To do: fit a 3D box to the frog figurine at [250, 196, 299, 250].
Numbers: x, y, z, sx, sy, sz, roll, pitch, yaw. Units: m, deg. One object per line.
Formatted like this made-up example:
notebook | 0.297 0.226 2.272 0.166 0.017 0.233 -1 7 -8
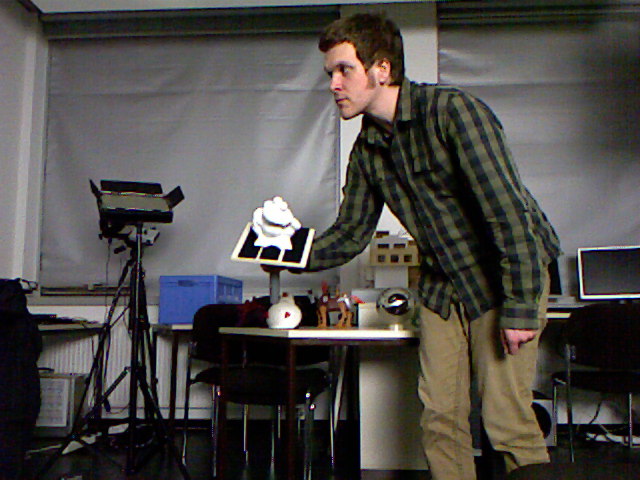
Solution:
frog figurine | -0.127 -0.061 1.417 0.138 0.156 0.125 16 34 19
